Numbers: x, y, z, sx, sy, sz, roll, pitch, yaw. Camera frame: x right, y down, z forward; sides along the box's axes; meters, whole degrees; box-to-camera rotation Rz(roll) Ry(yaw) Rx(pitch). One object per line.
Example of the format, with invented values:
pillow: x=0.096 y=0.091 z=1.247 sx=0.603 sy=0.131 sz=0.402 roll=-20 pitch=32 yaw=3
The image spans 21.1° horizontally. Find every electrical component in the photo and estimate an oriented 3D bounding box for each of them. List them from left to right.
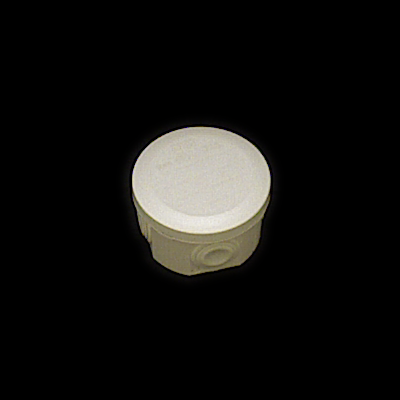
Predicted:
electrical component: x=0.000 y=0.000 z=0.632 sx=0.080 sy=0.080 sz=0.051 roll=0 pitch=-38 yaw=-1
